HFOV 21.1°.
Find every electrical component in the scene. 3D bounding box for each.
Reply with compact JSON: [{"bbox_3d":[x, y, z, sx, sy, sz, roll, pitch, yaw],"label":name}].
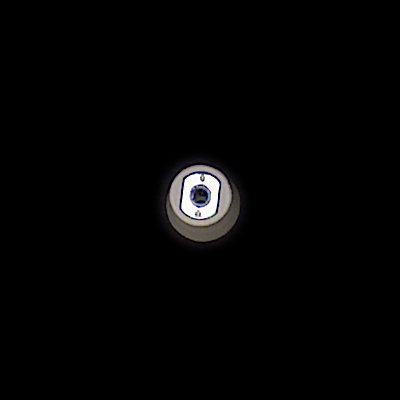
[{"bbox_3d":[0.000,0.000,0.626,0.044,0.044,0.065,0,-6,2],"label":"electrical component"}]
